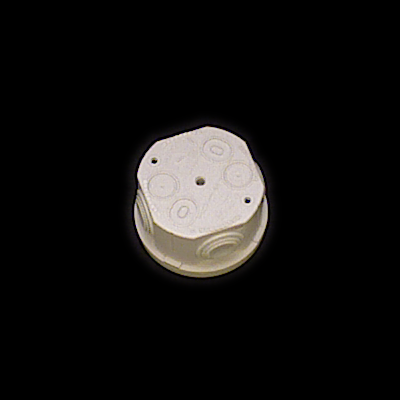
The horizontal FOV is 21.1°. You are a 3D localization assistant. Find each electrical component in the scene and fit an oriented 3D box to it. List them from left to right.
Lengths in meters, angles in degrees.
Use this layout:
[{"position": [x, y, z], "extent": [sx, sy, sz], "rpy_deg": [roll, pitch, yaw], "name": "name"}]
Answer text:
[{"position": [0.000, 0.000, 0.632], "extent": [0.080, 0.080, 0.050], "rpy_deg": [0, -27, 1], "name": "electrical component"}]
